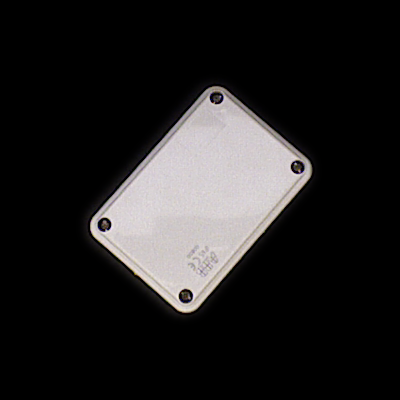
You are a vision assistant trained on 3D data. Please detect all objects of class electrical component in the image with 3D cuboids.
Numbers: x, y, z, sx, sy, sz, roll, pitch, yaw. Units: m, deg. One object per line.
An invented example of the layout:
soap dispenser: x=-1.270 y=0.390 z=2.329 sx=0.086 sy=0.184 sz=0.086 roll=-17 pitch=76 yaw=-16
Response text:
electrical component: x=0.000 y=0.000 z=0.627 sx=0.078 sy=0.113 sz=0.057 roll=41 pitch=-5 yaw=4
